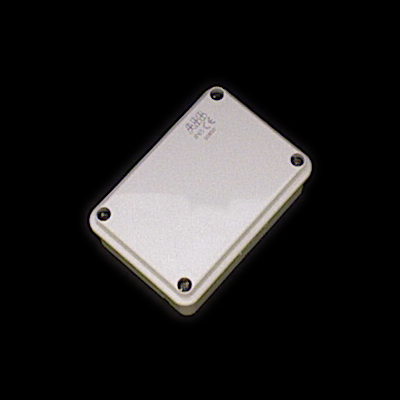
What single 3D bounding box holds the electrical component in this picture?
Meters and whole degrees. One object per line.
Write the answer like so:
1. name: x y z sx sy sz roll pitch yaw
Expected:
1. electrical component: 0.000 0.000 0.627 0.078 0.113 0.057 40 -13 11
